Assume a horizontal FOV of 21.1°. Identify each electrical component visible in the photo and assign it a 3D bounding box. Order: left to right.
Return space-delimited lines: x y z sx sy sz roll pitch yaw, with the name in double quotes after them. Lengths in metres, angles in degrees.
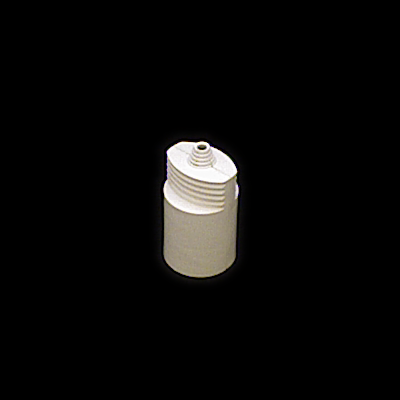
0.000 0.000 0.623 0.043 0.082 0.042 0 42 0 "electrical component"
